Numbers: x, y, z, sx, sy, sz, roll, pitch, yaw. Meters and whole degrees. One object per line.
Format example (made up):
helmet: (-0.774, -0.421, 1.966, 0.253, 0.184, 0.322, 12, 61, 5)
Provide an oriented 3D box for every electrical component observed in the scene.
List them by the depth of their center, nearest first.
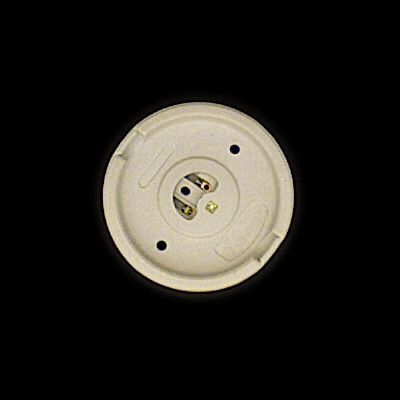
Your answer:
electrical component: (0.000, 0.000, 0.635, 0.108, 0.108, 0.060, 0, -6, 0)
